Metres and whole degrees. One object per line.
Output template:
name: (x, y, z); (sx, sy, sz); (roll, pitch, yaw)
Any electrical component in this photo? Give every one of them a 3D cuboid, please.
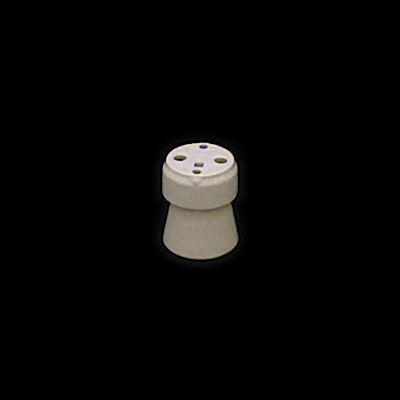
electrical component: (0.000, 0.000, 0.635); (0.045, 0.056, 0.044); (1, 31, 0)
